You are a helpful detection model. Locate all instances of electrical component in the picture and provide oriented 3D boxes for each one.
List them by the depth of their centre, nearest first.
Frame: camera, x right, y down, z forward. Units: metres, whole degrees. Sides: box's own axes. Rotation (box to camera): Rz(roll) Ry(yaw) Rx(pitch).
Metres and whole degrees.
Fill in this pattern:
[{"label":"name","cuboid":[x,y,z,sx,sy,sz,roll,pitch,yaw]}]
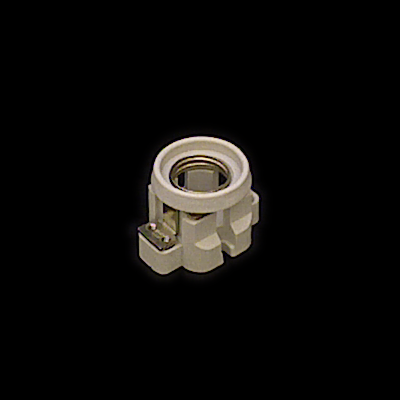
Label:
[{"label":"electrical component","cuboid":[0.000,0.000,0.630,0.078,0.057,0.057,-29,50,-28]}]
